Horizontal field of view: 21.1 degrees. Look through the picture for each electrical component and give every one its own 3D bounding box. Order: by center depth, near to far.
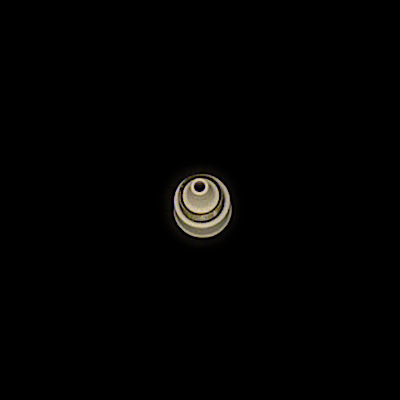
[{"bbox_3d":[0.000,0.000,0.636,0.035,0.035,0.061,0,-16,3],"label":"electrical component"}]
